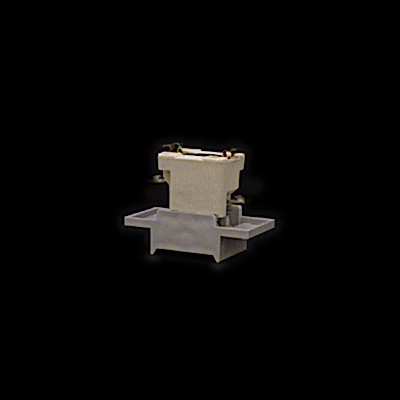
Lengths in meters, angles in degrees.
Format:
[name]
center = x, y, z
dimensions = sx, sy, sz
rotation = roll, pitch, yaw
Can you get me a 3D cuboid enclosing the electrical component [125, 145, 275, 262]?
[electrical component]
center = 0.000, 0.000, 0.644
dimensions = 0.080, 0.064, 0.042
rotation = 6, 12, 24
